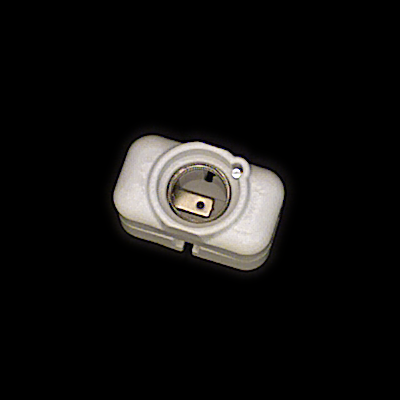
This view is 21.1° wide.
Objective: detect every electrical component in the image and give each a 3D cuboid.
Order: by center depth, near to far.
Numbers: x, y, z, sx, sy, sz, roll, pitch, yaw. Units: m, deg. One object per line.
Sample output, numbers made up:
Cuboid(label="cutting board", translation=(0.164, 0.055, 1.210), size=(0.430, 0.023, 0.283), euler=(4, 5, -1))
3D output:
Cuboid(label="electrical component", translation=(0.000, 0.000, 0.634), size=(0.095, 0.054, 0.059), euler=(17, -15, 4))
